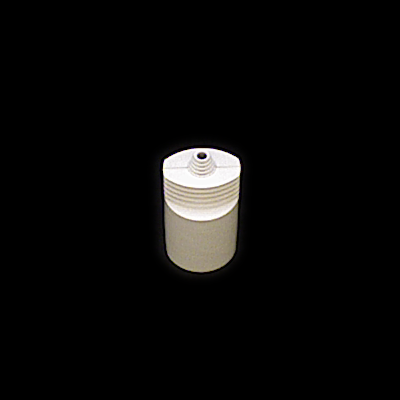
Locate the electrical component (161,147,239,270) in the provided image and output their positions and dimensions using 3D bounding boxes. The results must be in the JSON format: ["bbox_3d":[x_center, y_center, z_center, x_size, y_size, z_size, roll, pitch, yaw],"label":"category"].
[{"bbox_3d":[0.000,0.000,0.619,0.043,0.043,0.081,0,-38,0],"label":"electrical component"}]
